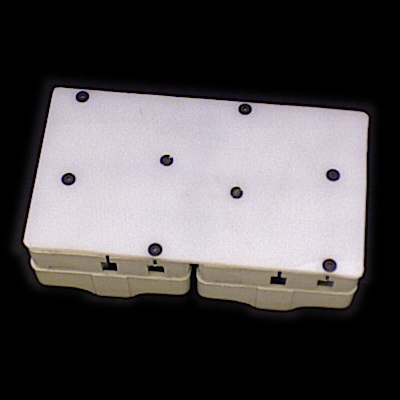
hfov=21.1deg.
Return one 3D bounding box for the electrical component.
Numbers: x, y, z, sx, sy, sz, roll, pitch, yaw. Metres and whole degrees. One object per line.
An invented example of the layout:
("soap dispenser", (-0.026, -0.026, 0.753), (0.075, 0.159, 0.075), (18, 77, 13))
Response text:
("electrical component", (0.000, 0.000, 0.625), (0.186, 0.105, 0.060), (5, -27, 3))
